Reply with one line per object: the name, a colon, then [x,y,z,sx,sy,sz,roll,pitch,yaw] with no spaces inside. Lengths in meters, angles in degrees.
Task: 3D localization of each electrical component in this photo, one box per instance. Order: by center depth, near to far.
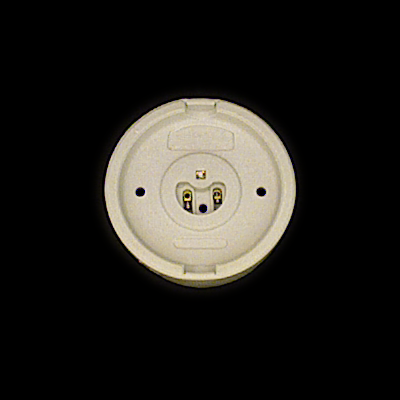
electrical component: [0.000,0.000,0.634,0.108,0.108,0.060,0,-16,0]
